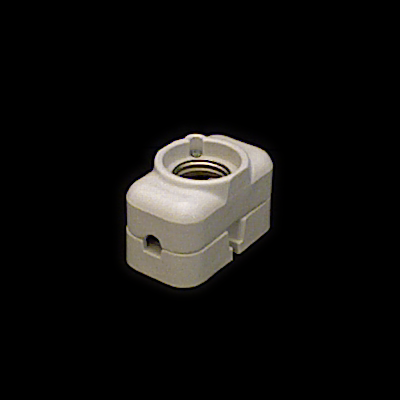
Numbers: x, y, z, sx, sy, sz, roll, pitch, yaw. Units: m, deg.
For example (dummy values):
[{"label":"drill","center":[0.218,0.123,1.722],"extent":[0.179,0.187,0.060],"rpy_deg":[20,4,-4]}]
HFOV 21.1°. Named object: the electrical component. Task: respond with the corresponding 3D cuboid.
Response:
[{"label":"electrical component","center":[0.000,0.000,0.642],"extent":[0.053,0.060,0.095],"rpy_deg":[22,37,29]}]
